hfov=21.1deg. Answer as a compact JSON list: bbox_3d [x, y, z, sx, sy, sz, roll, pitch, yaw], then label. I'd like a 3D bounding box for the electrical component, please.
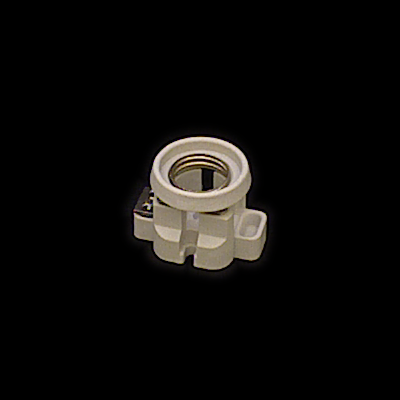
[{"bbox_3d":[0.000,0.000,0.631,0.078,0.057,0.057,11,43,11],"label":"electrical component"}]
